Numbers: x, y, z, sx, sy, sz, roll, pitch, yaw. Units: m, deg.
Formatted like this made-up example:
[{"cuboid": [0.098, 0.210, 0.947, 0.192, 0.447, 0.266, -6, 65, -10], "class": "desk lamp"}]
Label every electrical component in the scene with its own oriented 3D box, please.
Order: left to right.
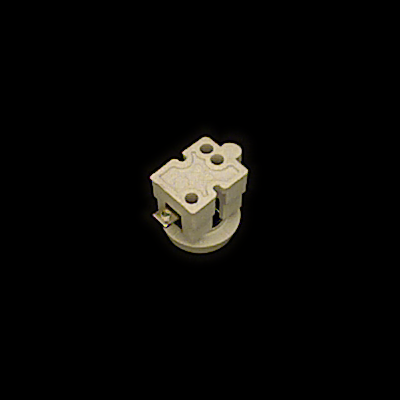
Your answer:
[{"cuboid": [0.000, 0.000, 0.639, 0.067, 0.048, 0.056, -37, -27, -24], "class": "electrical component"}]
